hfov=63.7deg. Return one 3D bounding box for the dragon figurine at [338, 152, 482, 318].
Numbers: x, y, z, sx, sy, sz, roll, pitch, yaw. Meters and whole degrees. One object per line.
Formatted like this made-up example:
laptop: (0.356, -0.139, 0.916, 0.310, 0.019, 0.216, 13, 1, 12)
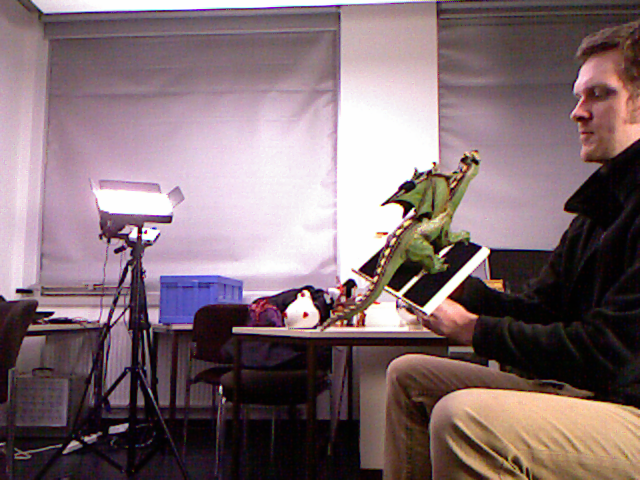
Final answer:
dragon figurine: (0.177, -0.033, 0.982, 0.416, 0.238, 0.124, -38, 49, -21)
